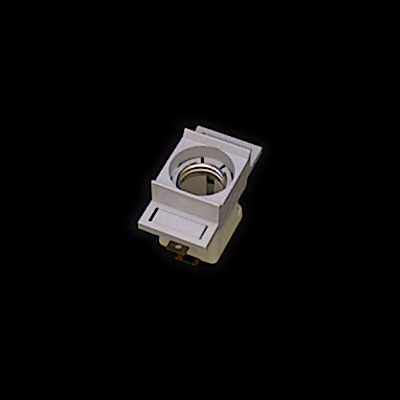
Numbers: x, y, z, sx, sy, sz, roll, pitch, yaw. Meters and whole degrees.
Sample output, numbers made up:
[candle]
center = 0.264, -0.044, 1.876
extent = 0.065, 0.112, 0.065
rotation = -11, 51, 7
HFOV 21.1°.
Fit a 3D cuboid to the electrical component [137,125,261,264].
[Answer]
[electrical component]
center = 0.000, 0.000, 0.624
extent = 0.042, 0.081, 0.064
rotation = 21, -35, 14
